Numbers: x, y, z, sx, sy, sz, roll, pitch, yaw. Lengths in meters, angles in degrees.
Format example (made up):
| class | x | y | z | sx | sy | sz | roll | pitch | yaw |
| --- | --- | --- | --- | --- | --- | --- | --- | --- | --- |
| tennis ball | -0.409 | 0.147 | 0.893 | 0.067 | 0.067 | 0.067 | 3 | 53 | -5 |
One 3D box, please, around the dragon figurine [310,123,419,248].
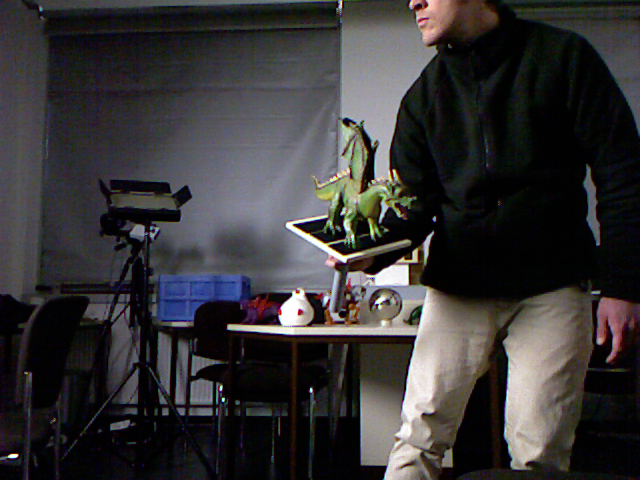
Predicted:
| class | x | y | z | sx | sy | sz | roll | pitch | yaw |
| --- | --- | --- | --- | --- | --- | --- | --- | --- | --- |
| dragon figurine | 0.070 | -0.136 | 1.116 | 0.123 | 0.238 | 0.417 | -11 | 31 | -27 |
